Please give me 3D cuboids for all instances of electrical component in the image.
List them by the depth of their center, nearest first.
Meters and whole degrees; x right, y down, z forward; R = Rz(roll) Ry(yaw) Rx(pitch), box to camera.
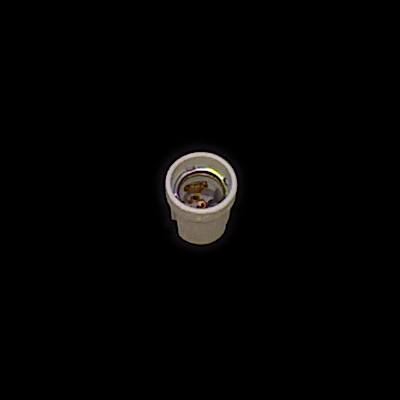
[{"bbox_3d":[0.000,0.000,0.628,0.040,0.040,0.046,0,-27,-1],"label":"electrical component"}]
